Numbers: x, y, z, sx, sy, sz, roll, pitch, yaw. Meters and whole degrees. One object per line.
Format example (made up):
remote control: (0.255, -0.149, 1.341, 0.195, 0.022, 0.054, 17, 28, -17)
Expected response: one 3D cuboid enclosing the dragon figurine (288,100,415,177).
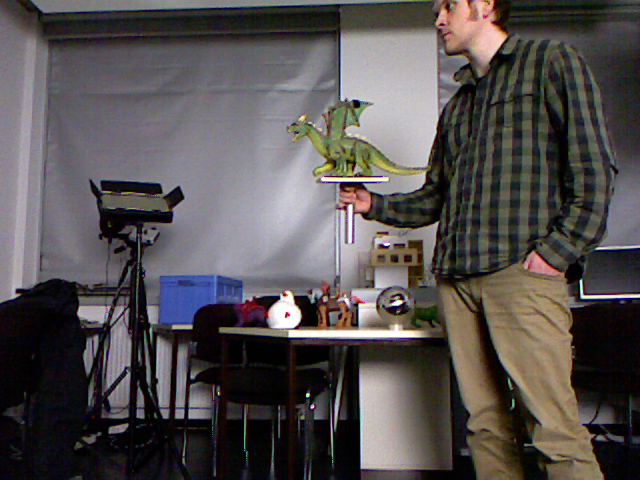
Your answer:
dragon figurine: (0.102, -0.321, 1.633, 0.412, 0.242, 0.123, -2, 6, -11)
